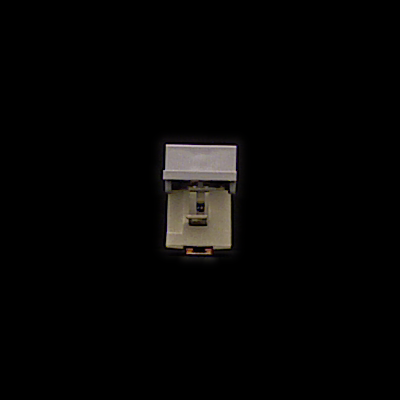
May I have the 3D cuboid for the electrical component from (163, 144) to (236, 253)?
[{"bbox_3d":[0.000,0.000,0.647,0.042,0.064,0.081,2,0,2],"label":"electrical component"}]
